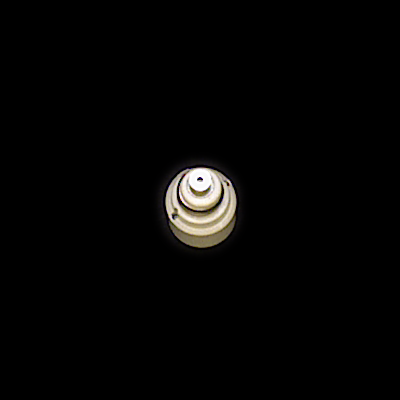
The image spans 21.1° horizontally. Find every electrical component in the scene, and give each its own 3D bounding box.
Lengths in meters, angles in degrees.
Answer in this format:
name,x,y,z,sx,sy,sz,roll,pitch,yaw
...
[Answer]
name,x,y,z,sx,sy,sz,roll,pitch,yaw
electrical component,0.000,0.000,0.618,0.040,0.040,0.078,0,-16,1
